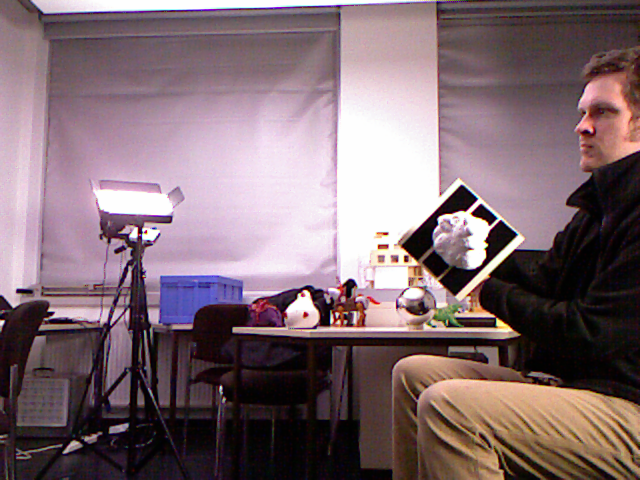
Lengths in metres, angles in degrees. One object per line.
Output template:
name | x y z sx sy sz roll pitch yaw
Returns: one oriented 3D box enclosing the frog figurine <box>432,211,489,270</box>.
frog figurine | 0.312 0.002 1.132 0.122 0.138 0.160 -26 -3 10
